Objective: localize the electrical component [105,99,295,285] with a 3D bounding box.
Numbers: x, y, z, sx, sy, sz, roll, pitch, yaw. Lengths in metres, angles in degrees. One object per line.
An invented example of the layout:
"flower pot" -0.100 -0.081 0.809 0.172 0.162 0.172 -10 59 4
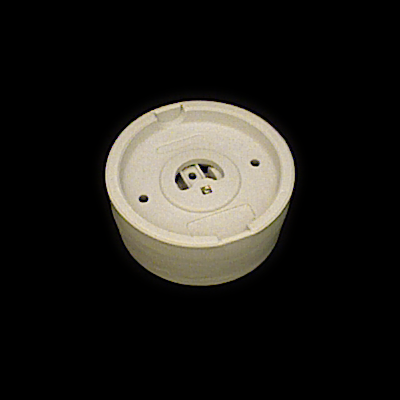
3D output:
"electrical component" 0.000 0.000 0.634 0.108 0.107 0.060 0 -37 0
